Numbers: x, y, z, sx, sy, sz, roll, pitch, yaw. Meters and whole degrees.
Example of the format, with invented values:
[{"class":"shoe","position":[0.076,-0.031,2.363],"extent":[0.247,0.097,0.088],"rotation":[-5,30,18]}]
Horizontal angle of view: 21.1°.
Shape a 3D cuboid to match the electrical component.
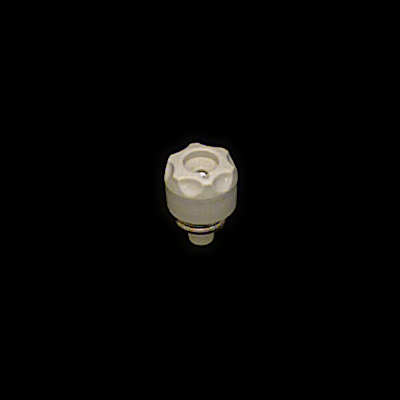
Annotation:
[{"class":"electrical component","position":[0.000,0.000,0.638],"extent":[0.043,0.062,0.043],"rotation":[0,42,0]}]
